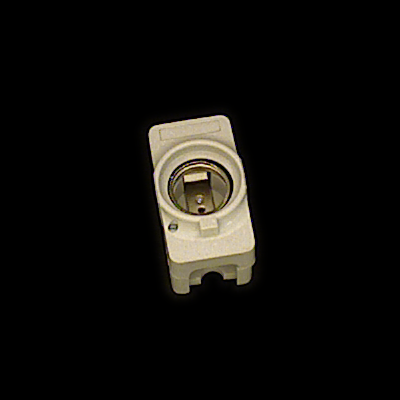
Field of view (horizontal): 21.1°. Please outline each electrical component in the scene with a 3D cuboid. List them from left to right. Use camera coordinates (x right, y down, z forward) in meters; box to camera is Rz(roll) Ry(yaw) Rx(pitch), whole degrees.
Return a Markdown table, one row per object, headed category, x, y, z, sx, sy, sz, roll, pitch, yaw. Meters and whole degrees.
| category | x | y | z | sx | sy | sz | roll | pitch | yaw |
| --- | --- | --- | --- | --- | --- | --- | --- | --- | --- |
| electrical component | 0.000 | 0.000 | 0.635 | 0.050 | 0.089 | 0.055 | -9 | -26 | -4 |
